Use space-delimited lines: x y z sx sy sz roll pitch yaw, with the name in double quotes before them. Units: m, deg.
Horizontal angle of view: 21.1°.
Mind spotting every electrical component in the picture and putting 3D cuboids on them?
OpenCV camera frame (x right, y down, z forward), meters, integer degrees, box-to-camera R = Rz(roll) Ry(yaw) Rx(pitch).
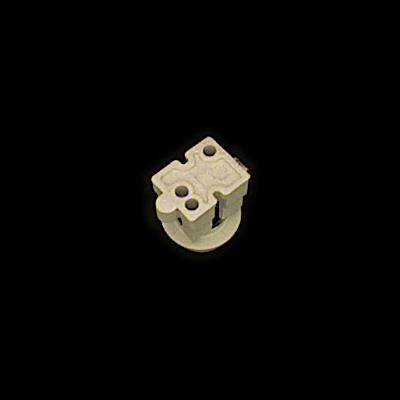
"electrical component" 0.000 0.000 0.636 0.067 0.048 0.055 -37 -22 -18
